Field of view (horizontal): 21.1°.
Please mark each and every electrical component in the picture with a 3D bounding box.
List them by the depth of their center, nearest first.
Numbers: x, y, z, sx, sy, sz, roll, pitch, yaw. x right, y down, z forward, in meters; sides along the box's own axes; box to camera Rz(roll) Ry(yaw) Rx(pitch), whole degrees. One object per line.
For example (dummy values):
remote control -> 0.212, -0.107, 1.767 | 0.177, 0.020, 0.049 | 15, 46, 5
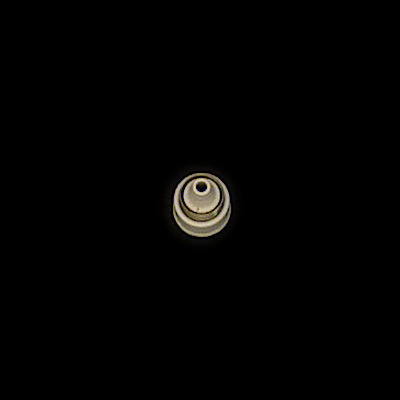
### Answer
electrical component -> 0.000, 0.000, 0.638 | 0.035, 0.035, 0.061 | 0, -15, 0
